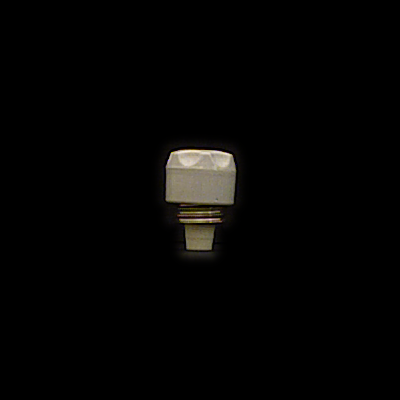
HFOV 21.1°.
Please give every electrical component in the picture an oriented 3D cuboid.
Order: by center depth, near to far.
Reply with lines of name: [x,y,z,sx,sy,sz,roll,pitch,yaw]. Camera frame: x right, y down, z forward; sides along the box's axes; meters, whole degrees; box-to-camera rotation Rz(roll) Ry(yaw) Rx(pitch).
electrical component: [0.000,0.000,0.656,0.043,0.062,0.043,2,2,0]
